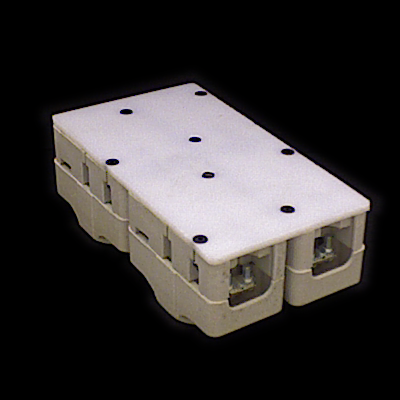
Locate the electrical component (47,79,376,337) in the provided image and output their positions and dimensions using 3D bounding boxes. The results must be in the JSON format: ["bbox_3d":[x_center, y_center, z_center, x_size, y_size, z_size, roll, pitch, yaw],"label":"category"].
[{"bbox_3d":[0.000,0.000,0.633,0.105,0.061,0.184,-17,36,-28],"label":"electrical component"}]
